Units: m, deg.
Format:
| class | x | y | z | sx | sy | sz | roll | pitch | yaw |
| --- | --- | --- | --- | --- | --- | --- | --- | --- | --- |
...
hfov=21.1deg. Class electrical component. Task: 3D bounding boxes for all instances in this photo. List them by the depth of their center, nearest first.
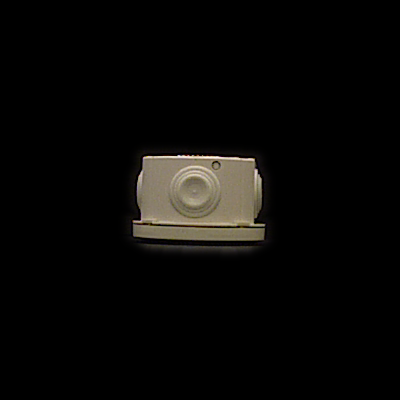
| class | x | y | z | sx | sy | sz | roll | pitch | yaw |
| --- | --- | --- | --- | --- | --- | --- | --- | --- | --- |
| electrical component | 0.000 | 0.000 | 0.649 | 0.080 | 0.051 | 0.080 | 2 | 1 | 0 |
